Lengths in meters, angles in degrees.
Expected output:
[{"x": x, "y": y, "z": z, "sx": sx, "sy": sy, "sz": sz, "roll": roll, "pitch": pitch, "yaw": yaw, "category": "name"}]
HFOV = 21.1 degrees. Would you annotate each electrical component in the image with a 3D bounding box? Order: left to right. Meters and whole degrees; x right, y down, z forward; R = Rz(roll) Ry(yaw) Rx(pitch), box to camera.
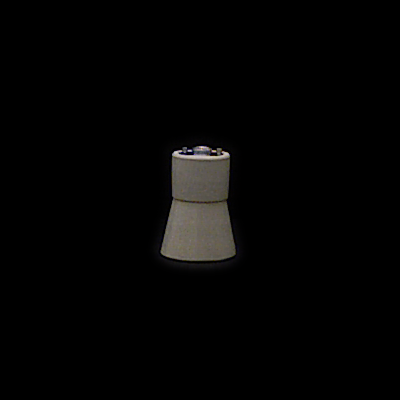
[{"x": 0.000, "y": 0.000, "z": 0.642, "sx": 0.044, "sy": 0.066, "sz": 0.044, "roll": 2, "pitch": 12, "yaw": 0, "category": "electrical component"}]
